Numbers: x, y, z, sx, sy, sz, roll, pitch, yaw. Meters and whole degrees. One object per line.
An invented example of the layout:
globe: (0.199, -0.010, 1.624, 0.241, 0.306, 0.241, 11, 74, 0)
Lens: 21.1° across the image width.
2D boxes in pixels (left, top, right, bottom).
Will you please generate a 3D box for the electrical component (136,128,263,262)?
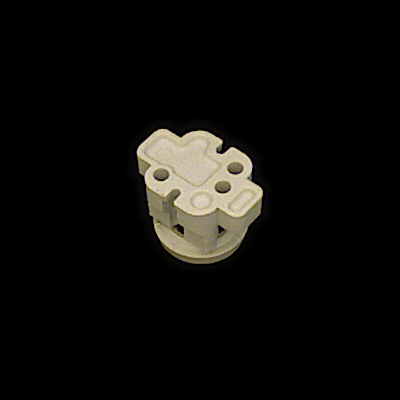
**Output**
electrical component: (0.000, 0.000, 0.637, 0.078, 0.058, 0.057, 31, -30, 23)
